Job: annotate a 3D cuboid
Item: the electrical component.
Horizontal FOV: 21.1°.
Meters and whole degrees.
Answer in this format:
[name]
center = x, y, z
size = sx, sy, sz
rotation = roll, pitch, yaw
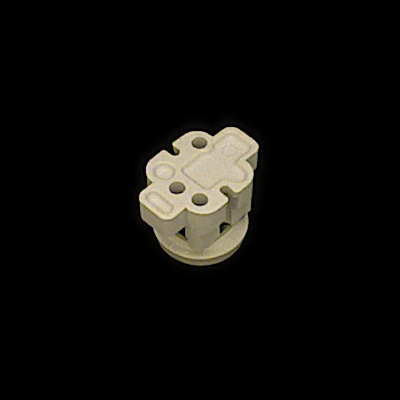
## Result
[electrical component]
center = 0.000, 0.000, 0.638
size = 0.057, 0.057, 0.079
rotation = 37, 59, 25
